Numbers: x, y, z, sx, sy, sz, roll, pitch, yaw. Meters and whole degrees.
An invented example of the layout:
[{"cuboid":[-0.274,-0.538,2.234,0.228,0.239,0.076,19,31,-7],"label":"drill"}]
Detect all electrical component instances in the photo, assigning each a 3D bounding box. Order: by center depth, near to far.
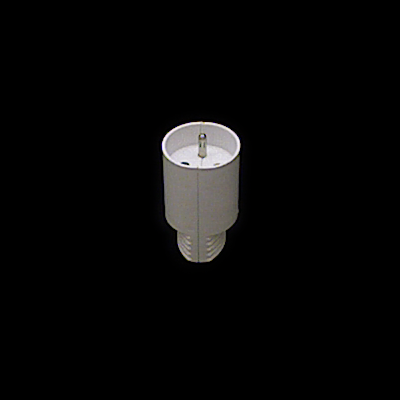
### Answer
[{"cuboid":[0.000,0.000,0.624,0.043,0.082,0.042,1,41,0],"label":"electrical component"}]
